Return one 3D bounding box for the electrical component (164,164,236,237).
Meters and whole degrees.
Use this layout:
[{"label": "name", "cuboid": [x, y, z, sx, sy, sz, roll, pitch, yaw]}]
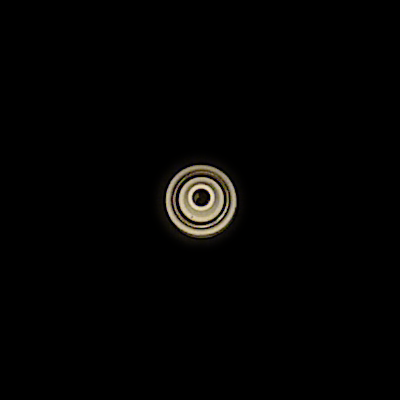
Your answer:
[{"label": "electrical component", "cuboid": [0.000, 0.000, 0.635, 0.043, 0.043, 0.062, 0, -4, 0]}]
